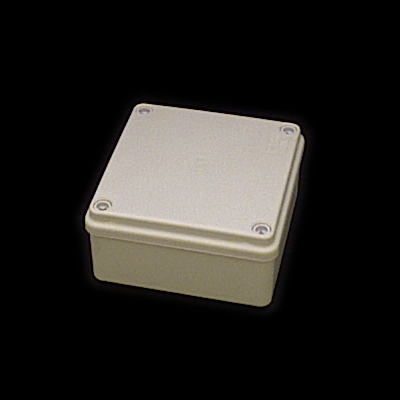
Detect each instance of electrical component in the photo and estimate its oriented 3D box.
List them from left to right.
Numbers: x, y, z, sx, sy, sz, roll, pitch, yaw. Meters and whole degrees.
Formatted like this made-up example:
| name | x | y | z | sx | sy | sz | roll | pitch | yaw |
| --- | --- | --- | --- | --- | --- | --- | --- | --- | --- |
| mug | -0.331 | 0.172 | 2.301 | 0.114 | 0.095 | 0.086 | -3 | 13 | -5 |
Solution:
| name | x | y | z | sx | sy | sz | roll | pitch | yaw |
| --- | --- | --- | --- | --- | --- | --- | --- | --- | --- |
| electrical component | 0.000 | 0.000 | 0.632 | 0.108 | 0.056 | 0.108 | 9 | 43 | 9 |
